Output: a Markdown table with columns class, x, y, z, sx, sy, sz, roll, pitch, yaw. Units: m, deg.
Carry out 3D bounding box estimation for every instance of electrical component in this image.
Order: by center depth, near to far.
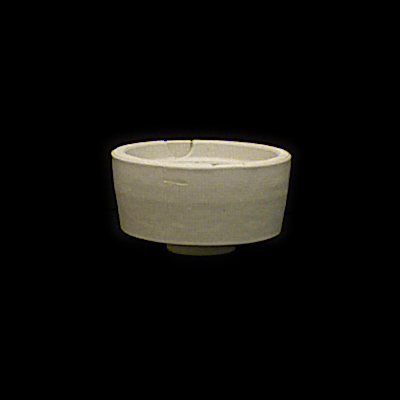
| class | x | y | z | sx | sy | sz | roll | pitch | yaw |
| --- | --- | --- | --- | --- | --- | --- | --- | --- | --- |
| electrical component | 0.000 | 0.000 | 0.653 | 0.108 | 0.061 | 0.107 | 2 | 11 | 0 |
